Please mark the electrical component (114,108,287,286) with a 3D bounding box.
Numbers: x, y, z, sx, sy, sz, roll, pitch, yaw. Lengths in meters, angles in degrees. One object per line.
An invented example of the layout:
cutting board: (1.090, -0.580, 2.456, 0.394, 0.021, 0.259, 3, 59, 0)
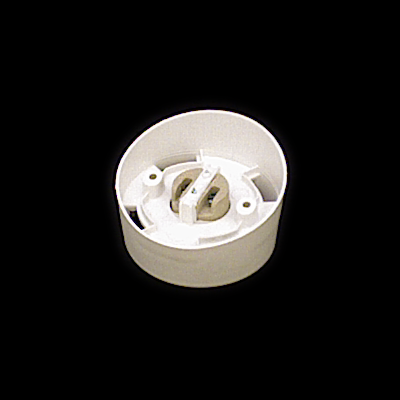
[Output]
electrical component: (0.000, 0.000, 0.630, 0.099, 0.065, 0.097, 1, 41, 0)
